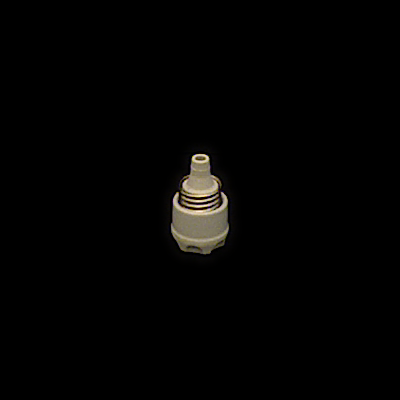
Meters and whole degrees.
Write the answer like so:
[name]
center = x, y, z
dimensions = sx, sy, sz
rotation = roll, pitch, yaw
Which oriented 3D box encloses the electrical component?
[electrical component]
center = 0.000, 0.000, 0.648
dimensions = 0.035, 0.062, 0.034
rotation = 0, 34, 0
